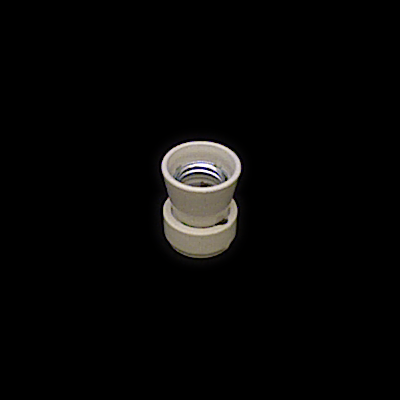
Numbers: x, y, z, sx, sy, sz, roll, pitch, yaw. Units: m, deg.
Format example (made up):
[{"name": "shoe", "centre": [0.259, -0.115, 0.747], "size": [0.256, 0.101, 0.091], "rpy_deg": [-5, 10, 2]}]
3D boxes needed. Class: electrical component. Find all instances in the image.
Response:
[{"name": "electrical component", "centre": [0.000, 0.000, 0.633], "size": [0.045, 0.056, 0.044], "rpy_deg": [1, 42, -1]}]
